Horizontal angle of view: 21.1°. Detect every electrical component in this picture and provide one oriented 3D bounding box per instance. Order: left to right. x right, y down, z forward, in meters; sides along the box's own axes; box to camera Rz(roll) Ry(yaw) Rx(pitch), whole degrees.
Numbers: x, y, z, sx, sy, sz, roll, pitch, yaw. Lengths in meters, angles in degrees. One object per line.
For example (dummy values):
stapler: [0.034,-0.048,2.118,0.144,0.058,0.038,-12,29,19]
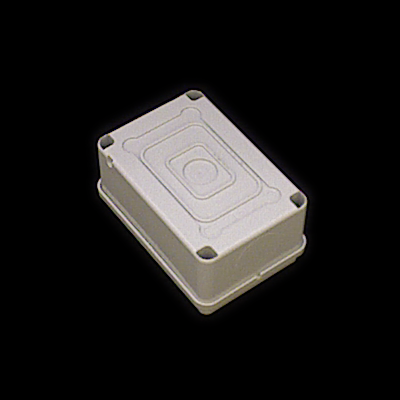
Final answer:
electrical component: [0.000,0.000,0.629,0.078,0.112,0.057,-30,-31,-22]
